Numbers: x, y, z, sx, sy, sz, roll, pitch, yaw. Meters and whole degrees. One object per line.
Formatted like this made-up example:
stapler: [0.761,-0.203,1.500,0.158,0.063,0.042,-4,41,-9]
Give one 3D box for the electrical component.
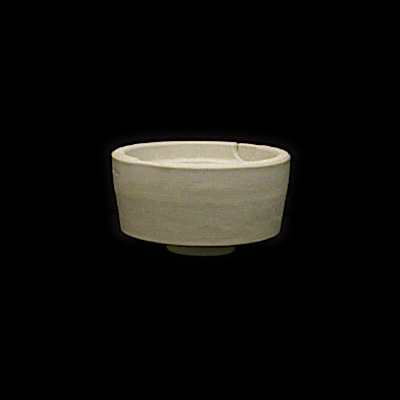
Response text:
electrical component: [0.000,0.000,0.655,0.108,0.061,0.107,1,11,0]
